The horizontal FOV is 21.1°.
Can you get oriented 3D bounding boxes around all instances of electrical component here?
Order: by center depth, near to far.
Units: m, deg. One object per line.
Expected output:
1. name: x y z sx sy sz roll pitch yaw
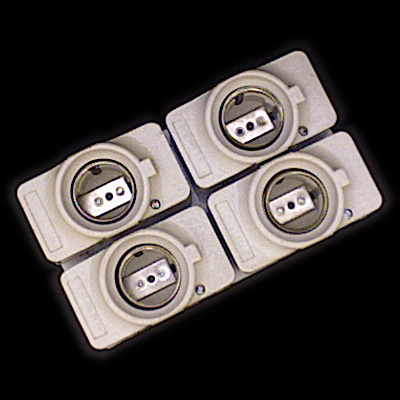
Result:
1. electrical component: 0.000 0.000 0.626 0.186 0.106 0.060 -27 -6 -3
